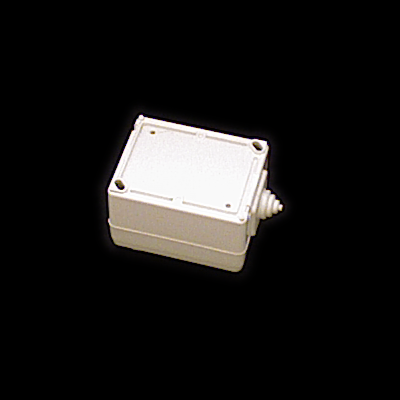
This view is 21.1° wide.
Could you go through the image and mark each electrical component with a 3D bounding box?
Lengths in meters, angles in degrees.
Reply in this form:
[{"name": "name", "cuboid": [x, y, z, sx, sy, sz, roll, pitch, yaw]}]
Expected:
[{"name": "electrical component", "cuboid": [0.000, 0.000, 0.627, 0.096, 0.062, 0.061, 13, -37, 8]}]
